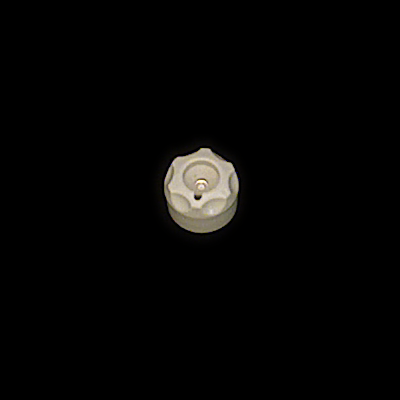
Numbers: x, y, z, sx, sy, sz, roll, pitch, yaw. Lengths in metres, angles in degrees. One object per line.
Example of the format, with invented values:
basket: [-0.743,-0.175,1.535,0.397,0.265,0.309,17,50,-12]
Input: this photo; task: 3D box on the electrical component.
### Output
electrical component: [0.000,0.000,0.634,0.043,0.043,0.062,0,-27,1]
